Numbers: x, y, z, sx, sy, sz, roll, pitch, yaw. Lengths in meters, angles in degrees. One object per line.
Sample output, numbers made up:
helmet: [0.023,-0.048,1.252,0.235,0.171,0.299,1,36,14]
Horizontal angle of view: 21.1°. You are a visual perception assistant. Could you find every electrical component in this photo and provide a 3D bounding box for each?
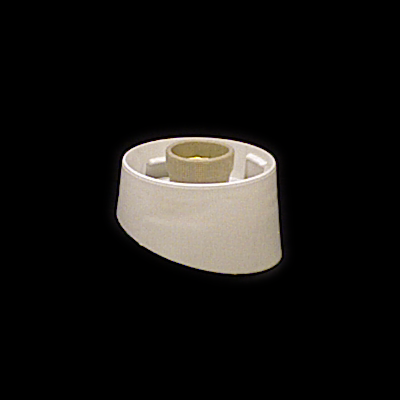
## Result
electrical component: [0.000,0.000,0.637,0.099,0.065,0.097,2,21,0]
